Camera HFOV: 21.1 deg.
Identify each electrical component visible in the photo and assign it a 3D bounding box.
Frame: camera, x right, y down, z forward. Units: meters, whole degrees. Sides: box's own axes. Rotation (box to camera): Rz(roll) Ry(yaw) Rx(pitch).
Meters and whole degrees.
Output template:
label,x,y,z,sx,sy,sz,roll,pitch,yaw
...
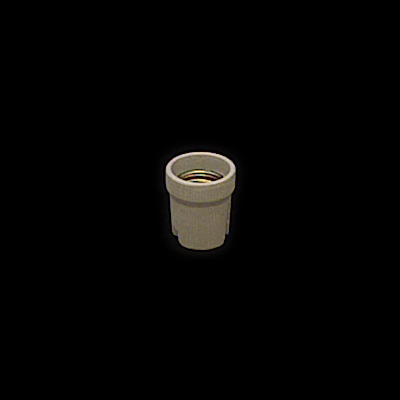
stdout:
label,x,y,z,sx,sy,sz,roll,pitch,yaw
electrical component,0.000,0.000,0.636,0.040,0.047,0.039,1,32,0
